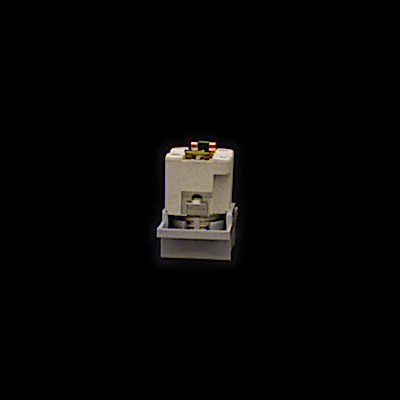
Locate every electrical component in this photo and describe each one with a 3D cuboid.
[{"bbox_3d":[0.000,0.000,0.643,0.042,0.064,0.080,2,10,4],"label":"electrical component"}]
